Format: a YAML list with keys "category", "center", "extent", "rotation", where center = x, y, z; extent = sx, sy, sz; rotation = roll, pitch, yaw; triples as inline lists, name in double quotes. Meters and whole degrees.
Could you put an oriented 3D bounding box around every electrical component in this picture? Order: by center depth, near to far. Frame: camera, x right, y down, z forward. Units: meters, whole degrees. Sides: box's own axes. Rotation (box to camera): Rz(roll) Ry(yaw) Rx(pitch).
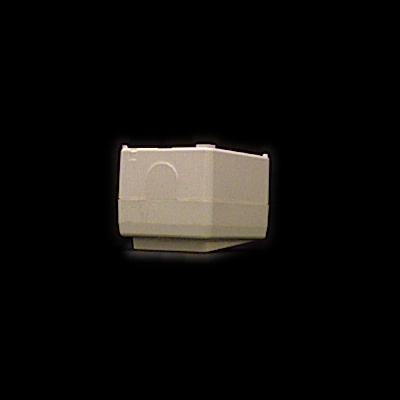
- category: "electrical component"
  center: [0.000, 0.000, 0.650]
  extent: [0.062, 0.061, 0.096]
  rotation: [2, -1, 29]
